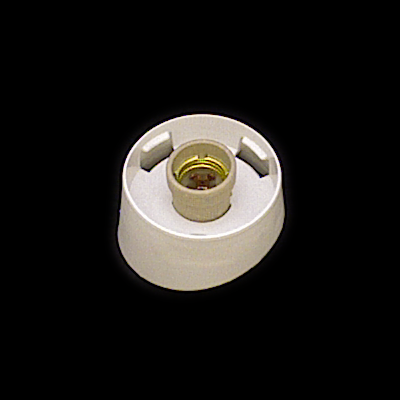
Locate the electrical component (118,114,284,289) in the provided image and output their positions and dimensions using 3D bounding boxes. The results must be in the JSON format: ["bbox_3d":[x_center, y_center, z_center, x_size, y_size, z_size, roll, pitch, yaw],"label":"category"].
[{"bbox_3d":[0.000,0.000,0.627,0.099,0.098,0.064,0,-37,0],"label":"electrical component"}]
